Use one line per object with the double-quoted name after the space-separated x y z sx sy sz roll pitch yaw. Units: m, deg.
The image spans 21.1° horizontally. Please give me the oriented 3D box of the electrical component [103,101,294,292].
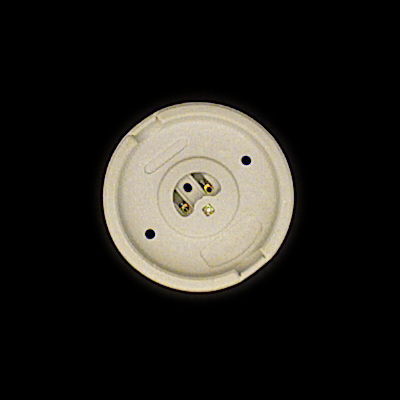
0.000 0.000 0.635 0.108 0.108 0.060 0 -6 0 "electrical component"
